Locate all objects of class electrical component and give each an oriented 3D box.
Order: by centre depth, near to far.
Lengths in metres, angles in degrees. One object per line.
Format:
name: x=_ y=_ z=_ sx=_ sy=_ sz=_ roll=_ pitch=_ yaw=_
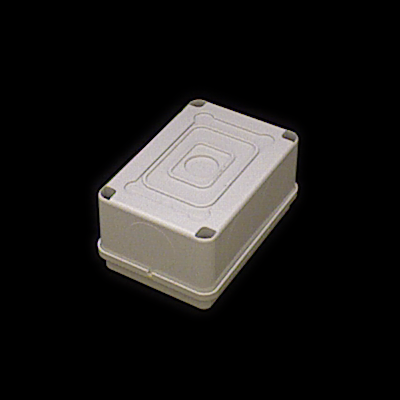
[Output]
electrical component: x=0.000 y=0.000 z=0.631 sx=0.078 sy=0.057 sz=0.112 roll=22 pitch=46 yaw=22
